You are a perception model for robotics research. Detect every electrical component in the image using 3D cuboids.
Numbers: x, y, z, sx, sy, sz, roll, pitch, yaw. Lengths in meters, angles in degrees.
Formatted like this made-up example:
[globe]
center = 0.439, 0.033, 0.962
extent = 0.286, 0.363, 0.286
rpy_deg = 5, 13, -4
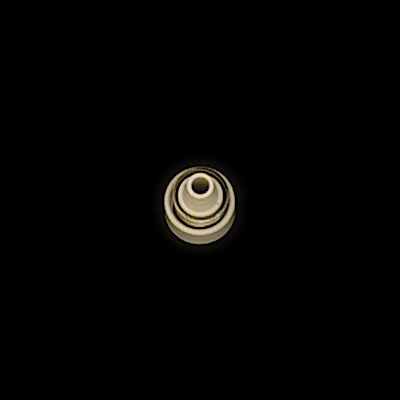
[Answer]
[electrical component]
center = 0.000, 0.000, 0.634
extent = 0.043, 0.043, 0.061
rpy_deg = 0, -17, -1
